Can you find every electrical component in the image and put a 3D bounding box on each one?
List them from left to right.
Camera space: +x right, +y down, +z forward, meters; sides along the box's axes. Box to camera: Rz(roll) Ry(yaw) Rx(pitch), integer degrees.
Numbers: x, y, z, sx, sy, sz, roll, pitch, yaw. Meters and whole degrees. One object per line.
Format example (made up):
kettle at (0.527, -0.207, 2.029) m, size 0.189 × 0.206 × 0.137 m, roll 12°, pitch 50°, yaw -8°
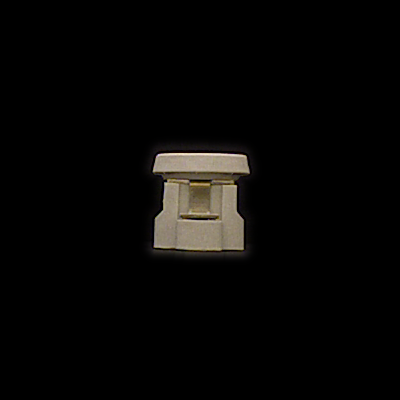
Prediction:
electrical component at (0.000, 0.000, 0.648) m, size 0.058 × 0.057 × 0.078 m, roll 1°, pitch 0°, yaw 0°
